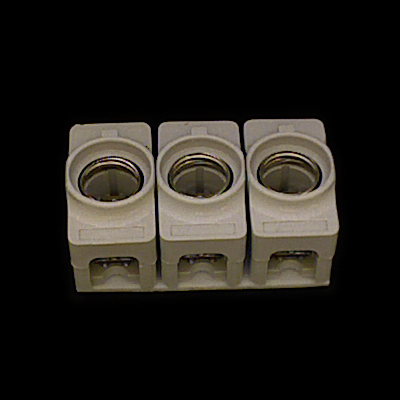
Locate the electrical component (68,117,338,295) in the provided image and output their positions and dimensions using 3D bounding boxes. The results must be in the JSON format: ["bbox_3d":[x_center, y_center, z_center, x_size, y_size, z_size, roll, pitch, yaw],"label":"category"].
[{"bbox_3d":[0.000,0.000,0.634,0.150,0.088,0.062,-2,-38,-2],"label":"electrical component"}]
